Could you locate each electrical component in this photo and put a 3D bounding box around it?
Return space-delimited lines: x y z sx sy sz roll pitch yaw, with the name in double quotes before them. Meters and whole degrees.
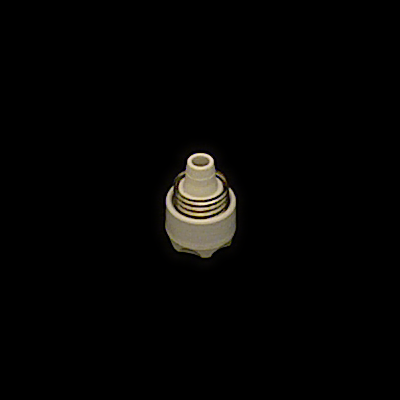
"electrical component" 0.000 0.000 0.638 0.043 0.062 0.043 1 41 0
